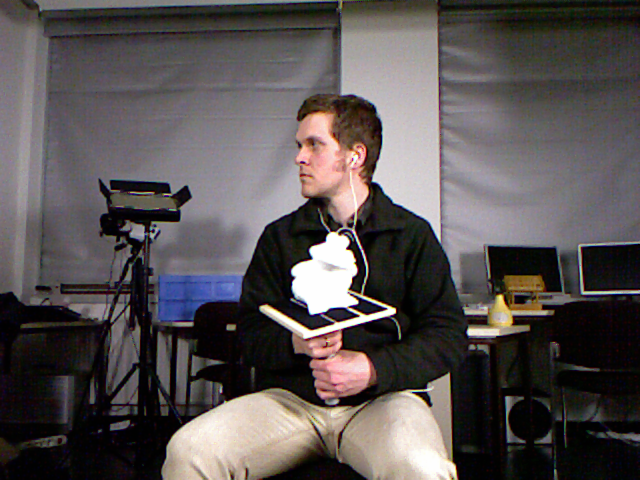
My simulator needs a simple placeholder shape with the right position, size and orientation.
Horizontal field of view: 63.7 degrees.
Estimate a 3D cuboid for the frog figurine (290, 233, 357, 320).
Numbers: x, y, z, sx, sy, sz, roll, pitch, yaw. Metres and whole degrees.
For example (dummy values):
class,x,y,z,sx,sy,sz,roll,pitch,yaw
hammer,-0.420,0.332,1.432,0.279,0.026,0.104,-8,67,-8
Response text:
class,x,y,z,sx,sy,sz,roll,pitch,yaw
frog figurine,0.007,0.061,1.026,0.137,0.158,0.124,-4,12,-6
